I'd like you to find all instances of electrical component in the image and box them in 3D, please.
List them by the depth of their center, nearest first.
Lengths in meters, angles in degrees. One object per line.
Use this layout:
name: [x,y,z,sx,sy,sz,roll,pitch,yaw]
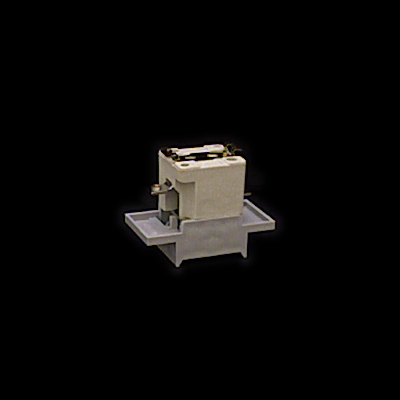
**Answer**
electrical component: [0.000,0.000,0.639,0.081,0.064,0.041,-8,23,-21]
